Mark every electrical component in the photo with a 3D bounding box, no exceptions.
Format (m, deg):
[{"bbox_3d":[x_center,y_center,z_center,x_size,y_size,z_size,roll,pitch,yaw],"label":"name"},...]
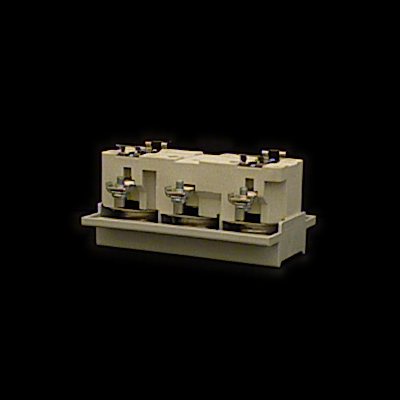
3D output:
[{"bbox_3d":[0.000,0.000,0.654,0.120,0.063,0.078,6,12,24],"label":"electrical component"}]
